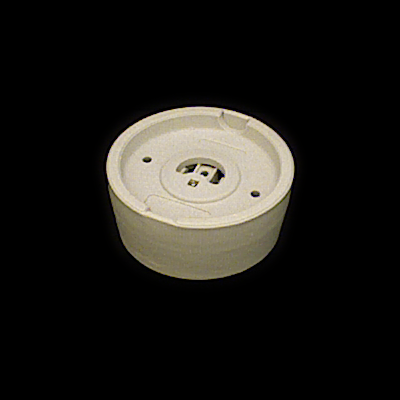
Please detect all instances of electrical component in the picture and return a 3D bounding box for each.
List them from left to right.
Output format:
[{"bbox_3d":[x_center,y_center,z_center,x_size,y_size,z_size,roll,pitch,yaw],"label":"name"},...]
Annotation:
[{"bbox_3d":[0.000,0.000,0.635,0.108,0.061,0.107,1,42,0],"label":"electrical component"}]
